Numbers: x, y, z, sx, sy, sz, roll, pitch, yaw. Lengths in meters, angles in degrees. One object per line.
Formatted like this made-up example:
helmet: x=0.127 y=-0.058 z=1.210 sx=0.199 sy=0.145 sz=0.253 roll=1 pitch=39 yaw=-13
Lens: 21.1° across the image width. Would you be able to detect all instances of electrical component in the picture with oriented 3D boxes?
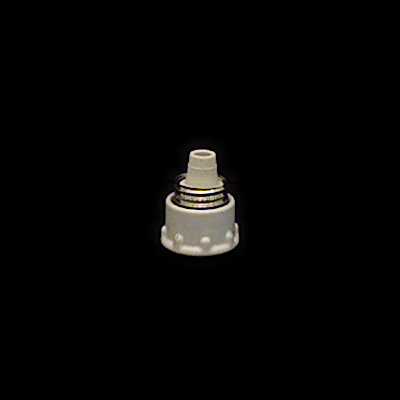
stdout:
electrical component: x=0.000 y=0.000 z=0.647 sx=0.048 sy=0.063 sz=0.047 roll=2 pitch=22 yaw=0
